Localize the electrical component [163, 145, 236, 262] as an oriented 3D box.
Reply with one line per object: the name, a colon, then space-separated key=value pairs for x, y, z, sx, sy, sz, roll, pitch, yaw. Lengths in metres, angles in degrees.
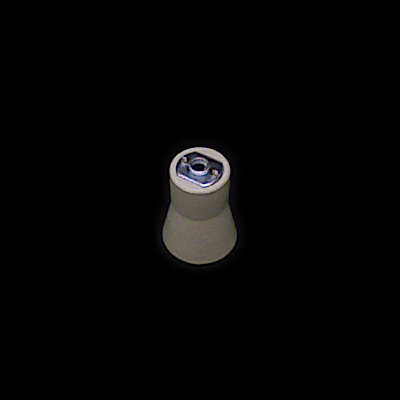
electrical component: x=0.000 y=0.000 z=0.627 sx=0.044 sy=0.044 sz=0.065 roll=0 pitch=-39 yaw=-1
